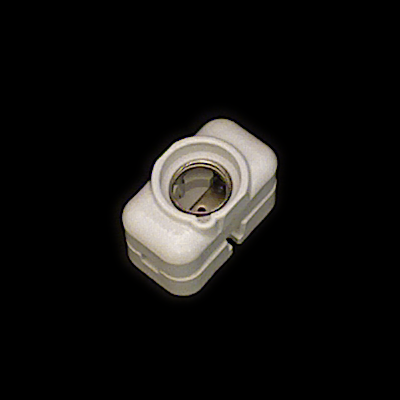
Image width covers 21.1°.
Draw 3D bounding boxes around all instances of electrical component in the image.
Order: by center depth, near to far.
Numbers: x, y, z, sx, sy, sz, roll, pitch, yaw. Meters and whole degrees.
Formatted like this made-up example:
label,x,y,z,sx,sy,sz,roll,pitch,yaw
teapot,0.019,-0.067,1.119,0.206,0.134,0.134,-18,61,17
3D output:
label,x,y,z,sx,sy,sz,roll,pitch,yaw
electrical component,0.000,0.000,0.633,0.053,0.095,0.059,36,-21,17
